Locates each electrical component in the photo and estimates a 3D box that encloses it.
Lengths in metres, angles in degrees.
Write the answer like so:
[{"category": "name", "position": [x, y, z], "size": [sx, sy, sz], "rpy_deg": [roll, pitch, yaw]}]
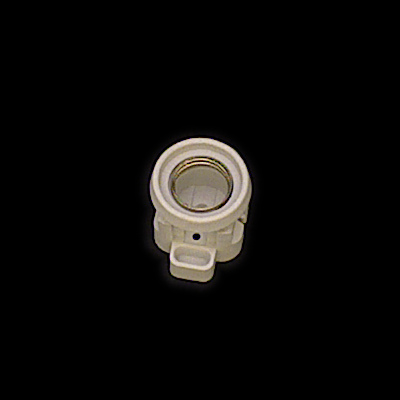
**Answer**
[{"category": "electrical component", "position": [0.000, 0.000, 0.629], "size": [0.058, 0.078, 0.057], "rpy_deg": [9, -27, 5]}]
